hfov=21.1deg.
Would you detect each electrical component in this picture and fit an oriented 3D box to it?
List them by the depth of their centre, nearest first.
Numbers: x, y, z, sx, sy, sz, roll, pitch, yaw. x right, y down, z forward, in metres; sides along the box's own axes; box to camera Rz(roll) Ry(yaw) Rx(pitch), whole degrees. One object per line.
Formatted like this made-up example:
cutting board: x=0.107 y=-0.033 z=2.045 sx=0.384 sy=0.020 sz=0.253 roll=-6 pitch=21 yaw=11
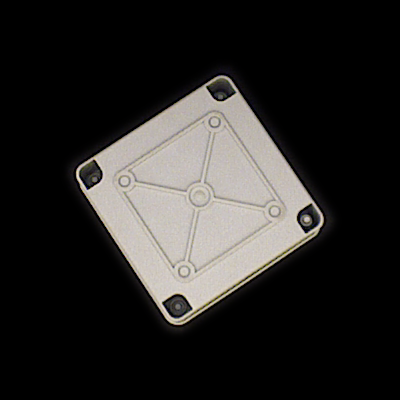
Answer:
electrical component: x=0.000 y=0.000 z=0.629 sx=0.109 sy=0.109 sz=0.056 roll=-33 pitch=-5 yaw=-4
